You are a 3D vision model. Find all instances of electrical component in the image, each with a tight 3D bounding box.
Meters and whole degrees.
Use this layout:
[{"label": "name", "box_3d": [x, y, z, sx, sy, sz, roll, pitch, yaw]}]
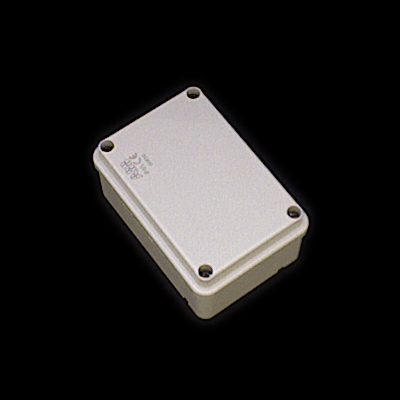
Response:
[{"label": "electrical component", "box_3d": [0.000, 0.000, 0.626, 0.078, 0.113, 0.057, -33, -22, -16]}]
